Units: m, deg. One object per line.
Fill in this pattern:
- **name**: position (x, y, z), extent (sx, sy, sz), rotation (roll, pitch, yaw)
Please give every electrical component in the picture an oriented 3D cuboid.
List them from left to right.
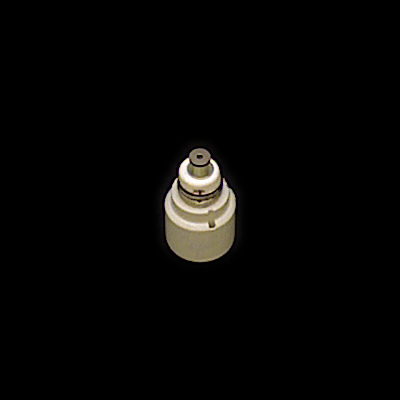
- **electrical component**: position (0.000, 0.000, 0.619), extent (0.040, 0.040, 0.079), rotation (0, -39, 1)
